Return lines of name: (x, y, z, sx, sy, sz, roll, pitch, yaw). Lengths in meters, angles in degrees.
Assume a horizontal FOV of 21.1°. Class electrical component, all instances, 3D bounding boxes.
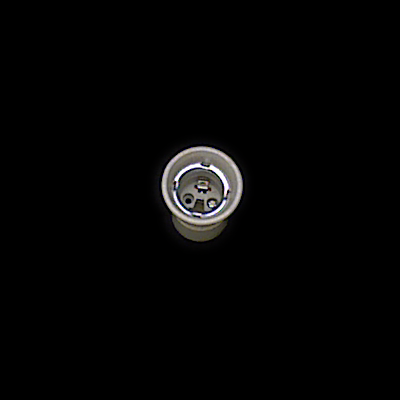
electrical component: (0.000, 0.000, 0.624, 0.044, 0.044, 0.065, 0, -17, -1)
